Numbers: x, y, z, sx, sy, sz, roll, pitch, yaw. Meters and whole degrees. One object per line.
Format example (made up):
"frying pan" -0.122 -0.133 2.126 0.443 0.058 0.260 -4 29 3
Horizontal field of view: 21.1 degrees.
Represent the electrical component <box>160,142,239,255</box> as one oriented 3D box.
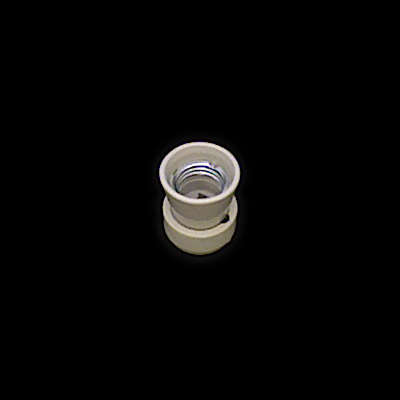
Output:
"electrical component" 0.000 0.000 0.628 0.045 0.044 0.055 0 -37 0
